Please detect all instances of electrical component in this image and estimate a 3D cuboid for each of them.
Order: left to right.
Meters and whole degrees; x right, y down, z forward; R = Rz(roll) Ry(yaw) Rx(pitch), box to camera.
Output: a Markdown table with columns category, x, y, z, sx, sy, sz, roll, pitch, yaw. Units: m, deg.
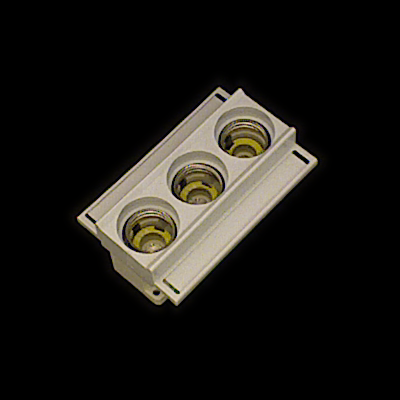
| category | x | y | z | sx | sy | sz | roll | pitch | yaw |
| --- | --- | --- | --- | --- | --- | --- | --- | --- | --- |
| electrical component | 0.000 | 0.000 | 0.637 | 0.078 | 0.122 | 0.063 | 39 | -20 | 19 |
